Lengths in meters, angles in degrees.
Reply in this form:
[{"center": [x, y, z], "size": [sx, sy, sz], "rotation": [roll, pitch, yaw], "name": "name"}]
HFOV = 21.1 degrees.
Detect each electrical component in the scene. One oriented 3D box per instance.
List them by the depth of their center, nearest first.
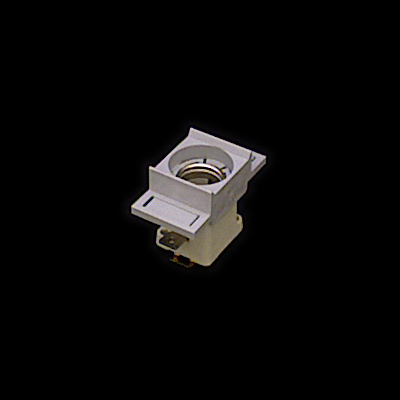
[{"center": [0.000, 0.000, 0.627], "size": [0.042, 0.064, 0.080], "rotation": [24, 46, 22], "name": "electrical component"}]
